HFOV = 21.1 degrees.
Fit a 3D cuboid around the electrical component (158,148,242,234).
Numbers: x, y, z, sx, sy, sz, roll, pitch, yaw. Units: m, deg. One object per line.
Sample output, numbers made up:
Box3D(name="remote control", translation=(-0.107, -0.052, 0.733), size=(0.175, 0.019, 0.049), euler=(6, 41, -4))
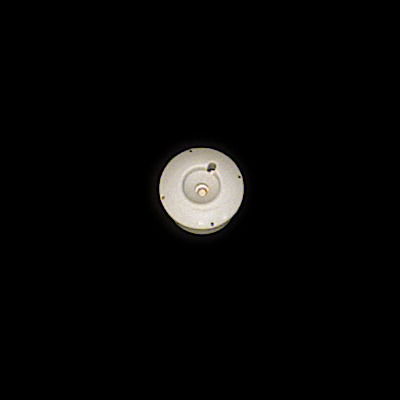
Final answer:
Box3D(name="electrical component", translation=(0.000, 0.000, 0.633), size=(0.048, 0.048, 0.061), euler=(0, -16, 1))
